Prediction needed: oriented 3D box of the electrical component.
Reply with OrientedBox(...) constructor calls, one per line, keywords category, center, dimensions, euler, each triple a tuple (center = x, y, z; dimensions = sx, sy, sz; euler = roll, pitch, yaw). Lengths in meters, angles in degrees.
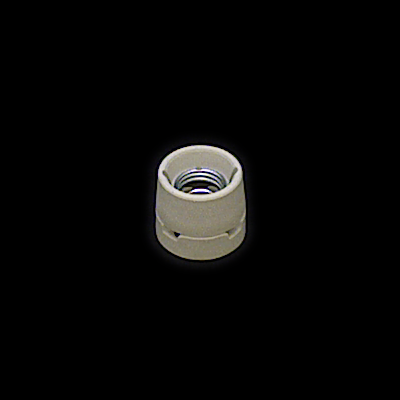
OrientedBox(category="electrical component", center=(0.000, 0.000, 0.636), dimensions=(0.055, 0.047, 0.055), euler=(0, 42, 0))
